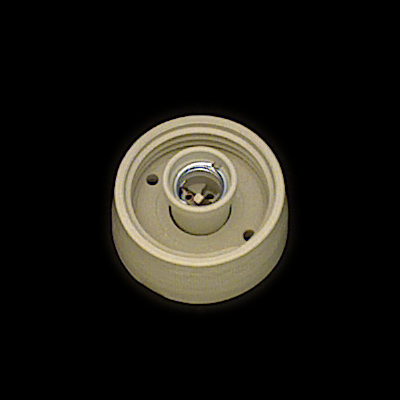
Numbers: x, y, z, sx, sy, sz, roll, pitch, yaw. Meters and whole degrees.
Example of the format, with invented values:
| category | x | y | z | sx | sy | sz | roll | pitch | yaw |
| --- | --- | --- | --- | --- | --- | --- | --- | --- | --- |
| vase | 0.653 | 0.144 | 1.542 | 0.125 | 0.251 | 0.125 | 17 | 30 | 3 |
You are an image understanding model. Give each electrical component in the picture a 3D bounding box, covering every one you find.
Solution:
| category | x | y | z | sx | sy | sz | roll | pitch | yaw |
| --- | --- | --- | --- | --- | --- | --- | --- | --- | --- |
| electrical component | 0.000 | 0.000 | 0.633 | 0.108 | 0.108 | 0.060 | 0 | -27 | -1 |
